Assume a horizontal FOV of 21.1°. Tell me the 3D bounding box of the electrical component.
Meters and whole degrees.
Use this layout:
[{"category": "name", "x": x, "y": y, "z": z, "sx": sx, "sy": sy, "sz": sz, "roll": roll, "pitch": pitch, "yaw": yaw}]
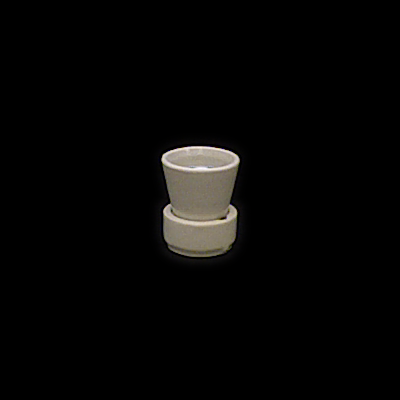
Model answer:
[{"category": "electrical component", "x": 0.000, "y": 0.000, "z": 0.637, "sx": 0.045, "sy": 0.056, "sz": 0.044, "roll": 0, "pitch": 21, "yaw": 0}]
